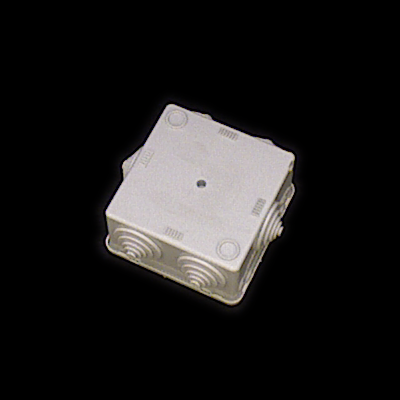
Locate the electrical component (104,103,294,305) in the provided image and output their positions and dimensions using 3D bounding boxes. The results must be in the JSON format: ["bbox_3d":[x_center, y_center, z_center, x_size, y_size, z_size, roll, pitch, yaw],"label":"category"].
[{"bbox_3d":[0.000,0.000,0.631,0.099,0.100,0.048,23,-24,11],"label":"electrical component"}]
